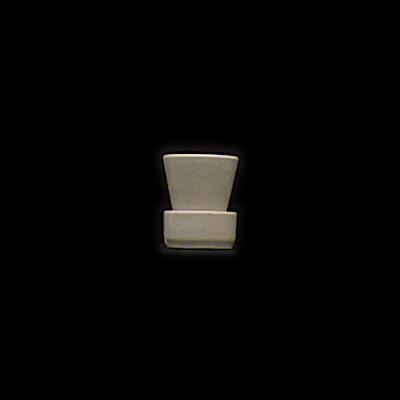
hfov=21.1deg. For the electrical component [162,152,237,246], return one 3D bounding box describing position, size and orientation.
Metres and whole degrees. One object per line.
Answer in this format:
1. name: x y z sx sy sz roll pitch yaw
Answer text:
1. electrical component: 0.000 0.000 0.650 0.045 0.055 0.045 1 0 0
